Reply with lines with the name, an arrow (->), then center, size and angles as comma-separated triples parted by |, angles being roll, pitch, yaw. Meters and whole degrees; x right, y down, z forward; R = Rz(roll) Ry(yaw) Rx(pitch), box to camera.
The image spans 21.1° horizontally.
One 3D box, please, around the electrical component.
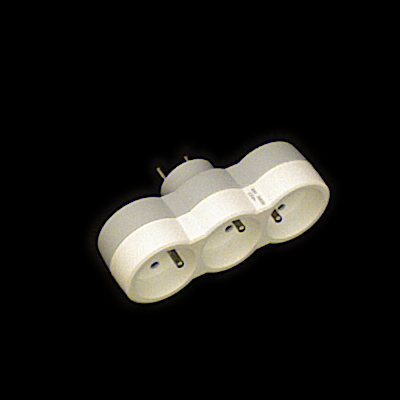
electrical component -> 0.000, 0.000, 0.641 | 0.139, 0.073, 0.052 | -24, -35, -18
